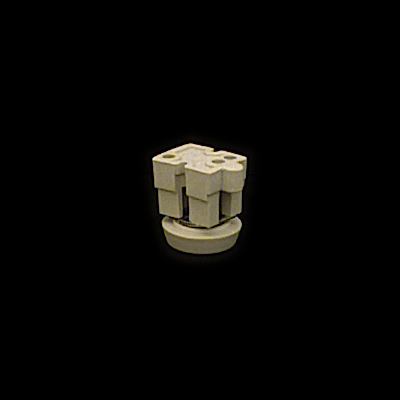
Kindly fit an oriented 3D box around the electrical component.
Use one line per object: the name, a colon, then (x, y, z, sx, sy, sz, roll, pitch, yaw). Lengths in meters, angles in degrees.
electrical component: (0.000, 0.000, 0.647, 0.065, 0.056, 0.048, 17, 28, 36)
